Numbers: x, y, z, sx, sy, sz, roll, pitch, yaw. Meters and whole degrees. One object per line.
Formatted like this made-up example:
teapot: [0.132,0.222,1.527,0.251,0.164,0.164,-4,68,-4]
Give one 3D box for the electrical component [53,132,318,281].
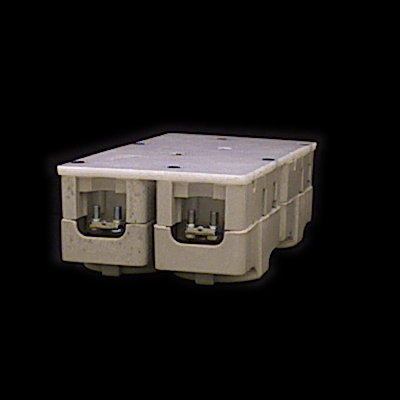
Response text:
electrical component: [0.000,0.000,0.644,0.105,0.060,0.185,4,10,17]
